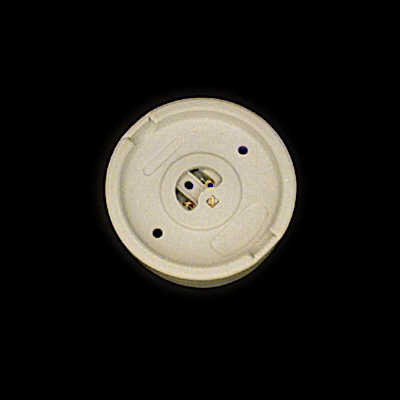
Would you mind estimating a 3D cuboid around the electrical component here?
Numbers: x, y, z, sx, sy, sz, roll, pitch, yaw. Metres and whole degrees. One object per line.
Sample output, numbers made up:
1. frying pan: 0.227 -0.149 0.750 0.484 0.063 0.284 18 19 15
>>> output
1. electrical component: 0.000 0.000 0.633 0.108 0.108 0.060 0 -16 0
